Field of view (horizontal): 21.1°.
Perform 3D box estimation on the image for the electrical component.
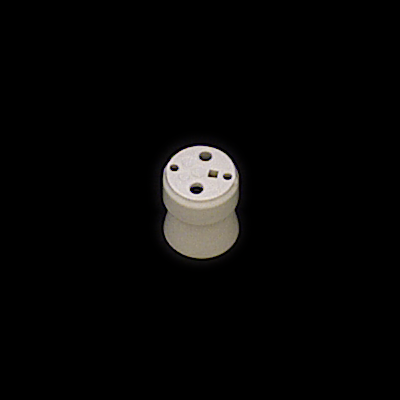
[{"bbox_3d":[0.000,0.000,0.629,0.045,0.044,0.055,0,-37,0],"label":"electrical component"}]
